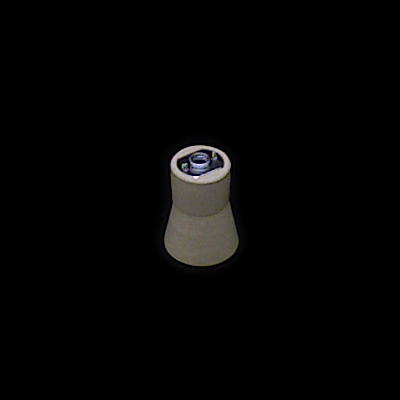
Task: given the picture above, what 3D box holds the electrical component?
[{"bbox_3d":[0.000,0.000,0.631,0.044,0.066,0.044,0,41,0],"label":"electrical component"}]
